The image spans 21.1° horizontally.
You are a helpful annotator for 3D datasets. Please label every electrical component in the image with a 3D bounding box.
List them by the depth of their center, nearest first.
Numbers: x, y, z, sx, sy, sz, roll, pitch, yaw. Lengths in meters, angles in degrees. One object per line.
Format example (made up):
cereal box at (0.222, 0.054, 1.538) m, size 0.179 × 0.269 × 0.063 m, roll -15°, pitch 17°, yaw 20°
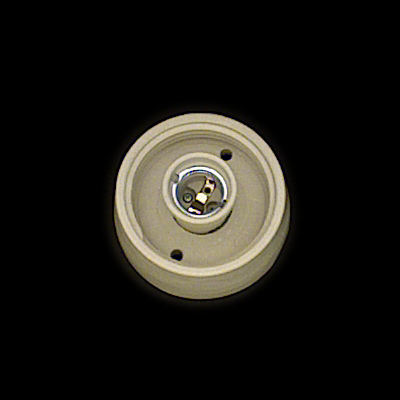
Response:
electrical component at (0.000, 0.000, 0.633) m, size 0.108 × 0.108 × 0.060 m, roll 0°, pitch -16°, yaw 0°
